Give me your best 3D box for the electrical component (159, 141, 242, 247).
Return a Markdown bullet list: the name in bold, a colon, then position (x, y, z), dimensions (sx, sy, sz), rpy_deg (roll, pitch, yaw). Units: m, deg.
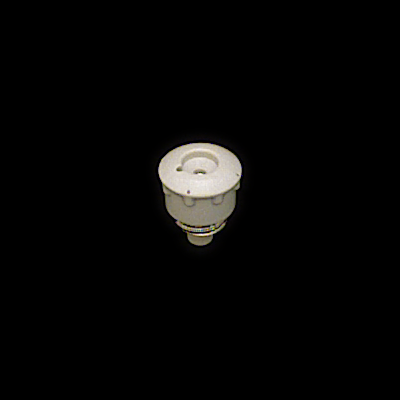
- **electrical component**: position (0.000, 0.000, 0.636), dimensions (0.048, 0.062, 0.048), rpy_deg (0, 42, 0)
